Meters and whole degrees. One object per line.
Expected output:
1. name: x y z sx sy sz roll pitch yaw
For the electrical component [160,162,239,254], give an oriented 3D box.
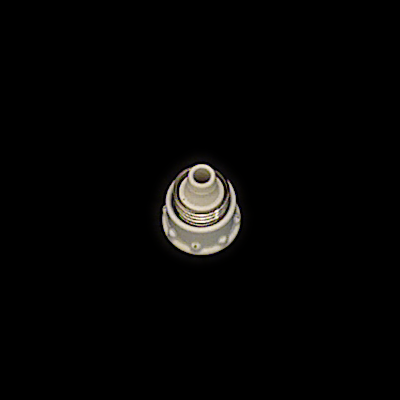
1. electrical component: 0.000 0.000 0.634 0.048 0.048 0.062 0 -27 -1
